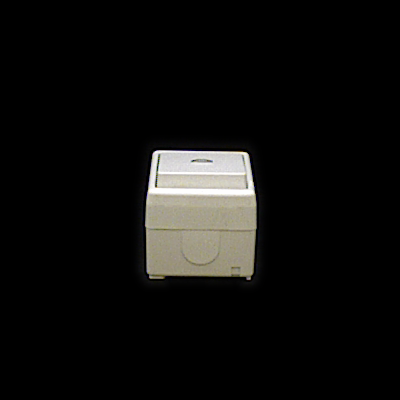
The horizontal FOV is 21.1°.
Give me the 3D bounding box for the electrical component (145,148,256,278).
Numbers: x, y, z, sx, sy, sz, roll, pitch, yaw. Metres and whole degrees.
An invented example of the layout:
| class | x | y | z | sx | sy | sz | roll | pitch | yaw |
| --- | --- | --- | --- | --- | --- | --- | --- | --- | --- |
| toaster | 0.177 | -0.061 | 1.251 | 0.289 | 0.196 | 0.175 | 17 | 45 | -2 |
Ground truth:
| class | x | y | z | sx | sy | sz | roll | pitch | yaw |
| --- | --- | --- | --- | --- | --- | --- | --- | --- | --- |
| electrical component | 0.000 | 0.000 | 0.641 | 0.062 | 0.061 | 0.095 | 1 | 21 | -1 |
